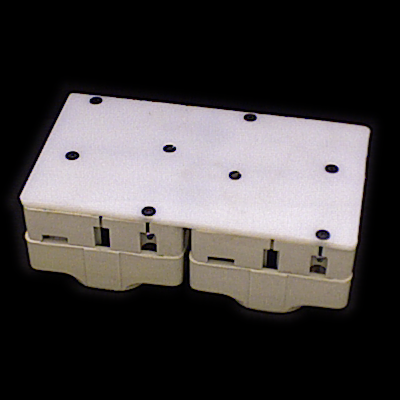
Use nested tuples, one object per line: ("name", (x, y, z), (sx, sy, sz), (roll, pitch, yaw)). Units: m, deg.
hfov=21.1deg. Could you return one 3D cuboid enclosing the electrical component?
("electrical component", (0.000, 0.000, 0.630), (0.186, 0.061, 0.104), (7, 42, 7))
